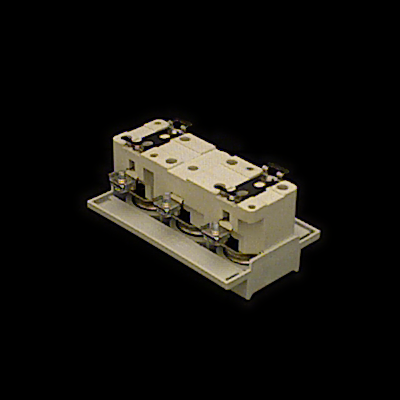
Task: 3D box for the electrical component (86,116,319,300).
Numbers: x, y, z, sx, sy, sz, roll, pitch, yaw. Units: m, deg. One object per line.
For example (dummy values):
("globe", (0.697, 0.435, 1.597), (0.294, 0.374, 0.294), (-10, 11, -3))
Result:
("electrical component", (0.000, 0.000, 0.644), (0.078, 0.064, 0.119), (-27, 42, -37))
